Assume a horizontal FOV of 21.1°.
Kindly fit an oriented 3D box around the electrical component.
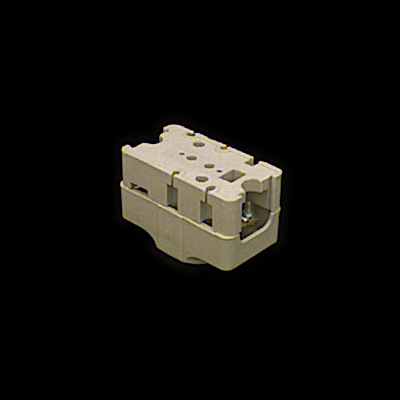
[{"bbox_3d":[0.000,0.000,0.643,0.088,0.056,0.050,27,40,34],"label":"electrical component"}]
